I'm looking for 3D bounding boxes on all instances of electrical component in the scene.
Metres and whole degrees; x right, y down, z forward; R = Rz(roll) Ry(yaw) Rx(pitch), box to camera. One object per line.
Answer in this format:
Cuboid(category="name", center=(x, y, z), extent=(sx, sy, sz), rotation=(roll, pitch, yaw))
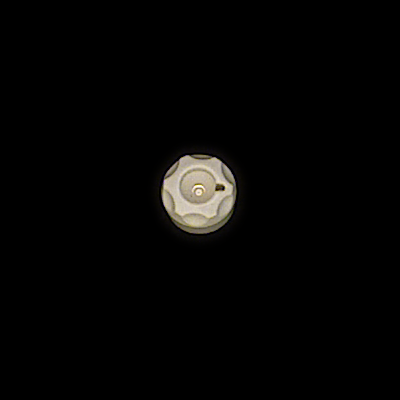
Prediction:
Cuboid(category="electrical component", center=(0.000, 0.000, 0.634), extent=(0.043, 0.043, 0.061), rotation=(0, -15, 1))
